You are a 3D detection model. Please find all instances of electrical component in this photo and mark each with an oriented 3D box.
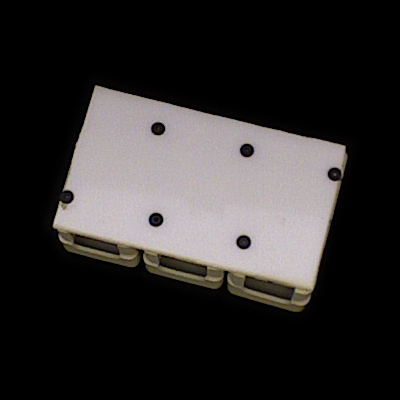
[{"bbox_3d":[0.000,0.000,0.631,0.150,0.089,0.062,14,-16,4],"label":"electrical component"}]
